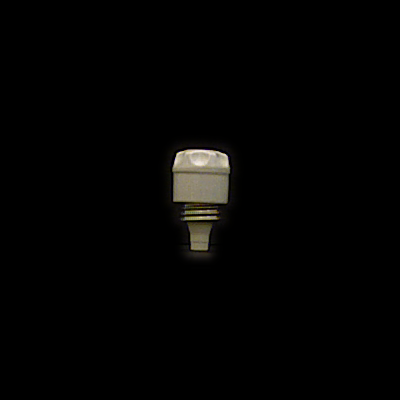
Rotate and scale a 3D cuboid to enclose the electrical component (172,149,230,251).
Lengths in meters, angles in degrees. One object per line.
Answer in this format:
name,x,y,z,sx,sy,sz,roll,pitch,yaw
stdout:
electrical component,0.000,0.000,0.658,0.035,0.061,0.035,2,2,0
